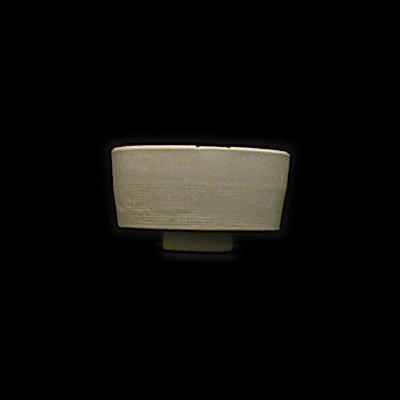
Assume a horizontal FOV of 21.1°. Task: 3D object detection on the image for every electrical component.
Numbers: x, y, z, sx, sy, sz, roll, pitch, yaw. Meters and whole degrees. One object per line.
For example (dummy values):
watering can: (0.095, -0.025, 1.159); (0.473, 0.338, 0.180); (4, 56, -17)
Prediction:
electrical component: (0.000, 0.000, 0.654); (0.108, 0.060, 0.108); (1, 0, 0)
